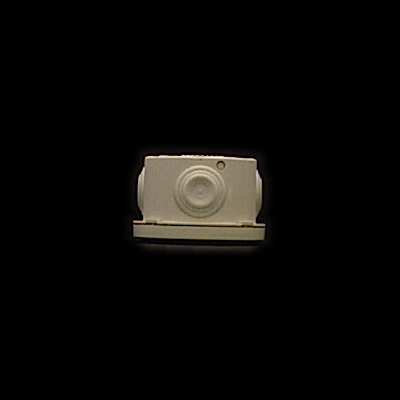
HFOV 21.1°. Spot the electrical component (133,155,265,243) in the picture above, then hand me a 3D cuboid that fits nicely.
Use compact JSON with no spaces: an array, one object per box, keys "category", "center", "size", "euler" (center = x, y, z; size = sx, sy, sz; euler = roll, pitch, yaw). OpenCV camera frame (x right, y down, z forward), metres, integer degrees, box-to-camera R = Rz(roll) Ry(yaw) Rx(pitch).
[{"category":"electrical component","center":[0.000,0.000,0.651],"size":[0.080,0.051,0.080],"euler":[2,0,0]}]
